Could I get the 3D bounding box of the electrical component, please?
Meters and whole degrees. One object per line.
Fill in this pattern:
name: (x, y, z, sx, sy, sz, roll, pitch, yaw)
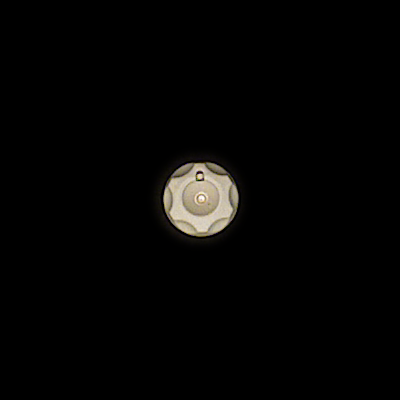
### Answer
electrical component: (0.000, 0.000, 0.635, 0.043, 0.043, 0.062, 0, -4, 1)
